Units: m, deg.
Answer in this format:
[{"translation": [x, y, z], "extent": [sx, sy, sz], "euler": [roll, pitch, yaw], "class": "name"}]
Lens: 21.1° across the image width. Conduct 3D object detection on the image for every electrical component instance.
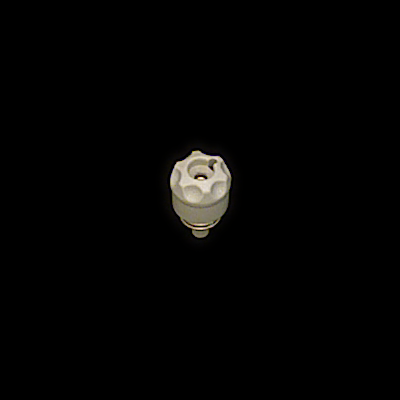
[{"translation": [0.000, 0.000, 0.635], "extent": [0.035, 0.035, 0.062], "euler": [0, -37, 0], "class": "electrical component"}]
